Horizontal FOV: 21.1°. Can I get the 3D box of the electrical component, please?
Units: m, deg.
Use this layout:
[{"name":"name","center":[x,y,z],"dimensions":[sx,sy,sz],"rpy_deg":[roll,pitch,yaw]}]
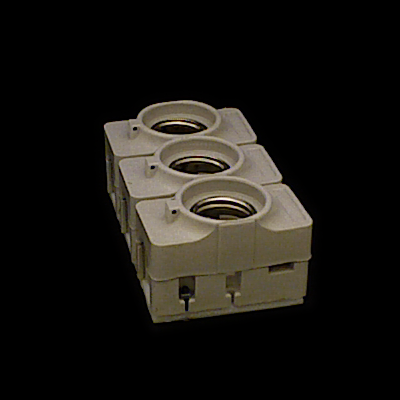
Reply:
[{"name":"electrical component","center":[0.000,0.000,0.639],"dimensions":[0.089,0.063,0.147],"rpy_deg":[-8,31,-13]}]
